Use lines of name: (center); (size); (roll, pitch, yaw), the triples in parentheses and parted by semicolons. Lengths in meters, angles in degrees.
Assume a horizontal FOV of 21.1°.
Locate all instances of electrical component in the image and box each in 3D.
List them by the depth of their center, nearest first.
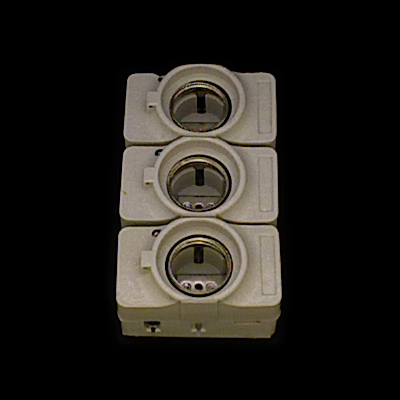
electrical component: (0.000, 0.000, 0.631); (0.089, 0.149, 0.062); (0, -28, 1)
